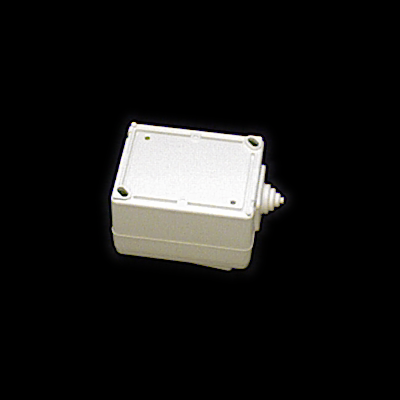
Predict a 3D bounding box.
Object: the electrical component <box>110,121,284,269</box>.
[{"bbox_3d":[0.000,0.001,0.629,0.096,0.061,0.061,7,-39,5],"label":"electrical component"}]
